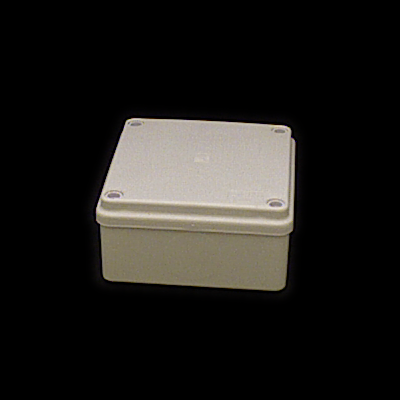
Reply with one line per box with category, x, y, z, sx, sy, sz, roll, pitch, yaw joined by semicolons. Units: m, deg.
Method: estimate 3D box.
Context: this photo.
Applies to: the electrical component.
electrical component;0.000;0.000;0.637;0.109;0.057;0.107;3;31;4
